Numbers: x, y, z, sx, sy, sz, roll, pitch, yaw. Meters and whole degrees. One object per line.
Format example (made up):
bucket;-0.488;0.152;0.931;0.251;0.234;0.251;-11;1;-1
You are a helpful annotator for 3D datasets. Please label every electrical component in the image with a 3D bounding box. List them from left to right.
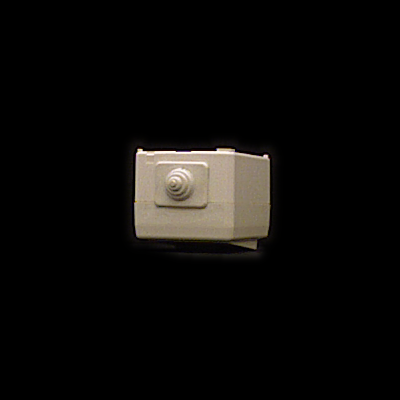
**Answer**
electrical component;0.000;0.000;0.650;0.061;0.061;0.096;1;1;19
